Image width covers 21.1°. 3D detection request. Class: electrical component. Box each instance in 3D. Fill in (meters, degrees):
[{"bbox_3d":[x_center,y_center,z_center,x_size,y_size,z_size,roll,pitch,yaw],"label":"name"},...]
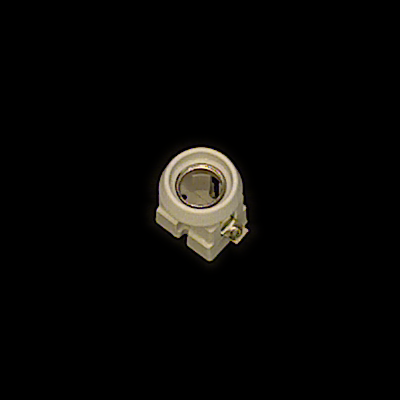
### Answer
[{"bbox_3d":[0.000,0.000,0.637,0.066,0.048,0.055,35,-19,16],"label":"electrical component"}]
